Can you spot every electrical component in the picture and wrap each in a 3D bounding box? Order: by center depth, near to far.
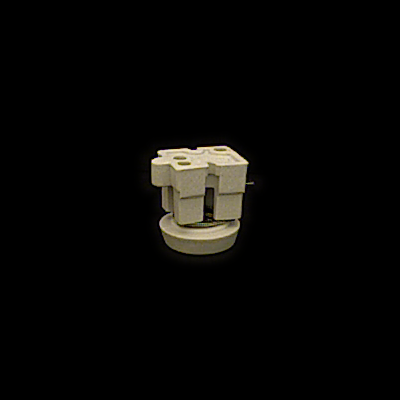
[{"bbox_3d":[0.000,0.000,0.646,0.067,0.056,0.047,-6,22,-20],"label":"electrical component"}]
